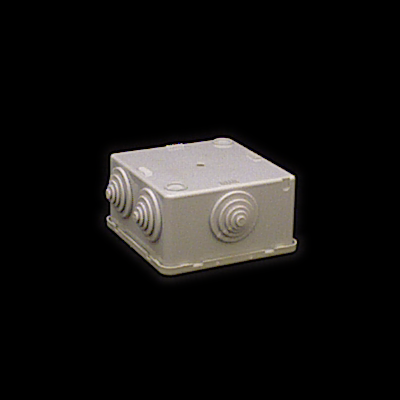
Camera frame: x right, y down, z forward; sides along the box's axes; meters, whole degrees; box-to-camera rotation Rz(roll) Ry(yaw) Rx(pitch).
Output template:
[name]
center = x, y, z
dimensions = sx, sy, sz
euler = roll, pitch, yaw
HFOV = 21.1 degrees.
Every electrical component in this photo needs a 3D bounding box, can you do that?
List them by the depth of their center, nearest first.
[electrical component]
center = 0.000, 0.000, 0.640
dimensions = 0.100, 0.049, 0.098
euler = -9, 23, -25
